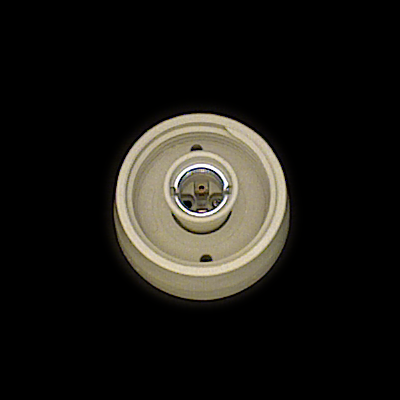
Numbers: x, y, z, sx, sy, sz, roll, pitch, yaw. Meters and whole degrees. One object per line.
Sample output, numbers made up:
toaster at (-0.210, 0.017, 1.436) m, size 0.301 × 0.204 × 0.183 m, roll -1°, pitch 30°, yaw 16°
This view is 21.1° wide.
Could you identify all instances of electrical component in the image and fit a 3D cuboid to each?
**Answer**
electrical component at (0.000, 0.000, 0.634) m, size 0.108 × 0.108 × 0.060 m, roll 0°, pitch -16°, yaw 0°
